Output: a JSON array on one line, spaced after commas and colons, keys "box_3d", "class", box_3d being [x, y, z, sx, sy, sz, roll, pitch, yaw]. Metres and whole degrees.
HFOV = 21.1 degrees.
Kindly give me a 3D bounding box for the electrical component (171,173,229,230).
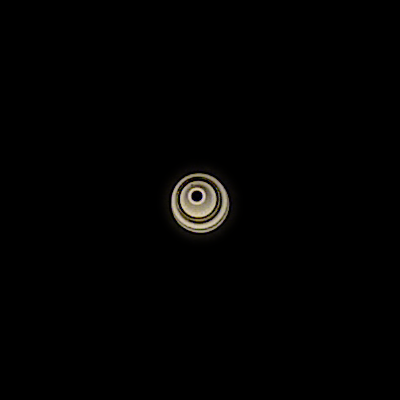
[{"box_3d": [0.000, 0.000, 0.637, 0.035, 0.035, 0.061, 0, -6, 2], "class": "electrical component"}]
